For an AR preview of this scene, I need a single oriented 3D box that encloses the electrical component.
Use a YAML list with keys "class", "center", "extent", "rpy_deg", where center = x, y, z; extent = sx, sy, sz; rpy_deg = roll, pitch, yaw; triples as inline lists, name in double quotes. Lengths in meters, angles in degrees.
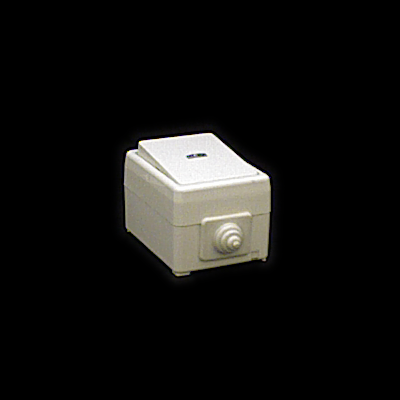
- class: "electrical component"
  center: [0.000, 0.000, 0.636]
  extent: [0.062, 0.061, 0.095]
  rpy_deg: [-9, 23, -24]
